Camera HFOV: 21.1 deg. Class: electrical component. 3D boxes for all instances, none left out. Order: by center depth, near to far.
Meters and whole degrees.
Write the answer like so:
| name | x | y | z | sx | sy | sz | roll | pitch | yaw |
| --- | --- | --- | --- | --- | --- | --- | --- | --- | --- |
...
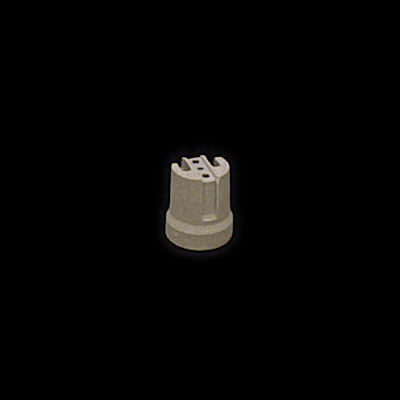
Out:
| name | x | y | z | sx | sy | sz | roll | pitch | yaw |
| --- | --- | --- | --- | --- | --- | --- | --- | --- | --- |
| electrical component | 0.000 | 0.000 | 0.639 | 0.040 | 0.046 | 0.040 | 1 | 32 | -1 |
